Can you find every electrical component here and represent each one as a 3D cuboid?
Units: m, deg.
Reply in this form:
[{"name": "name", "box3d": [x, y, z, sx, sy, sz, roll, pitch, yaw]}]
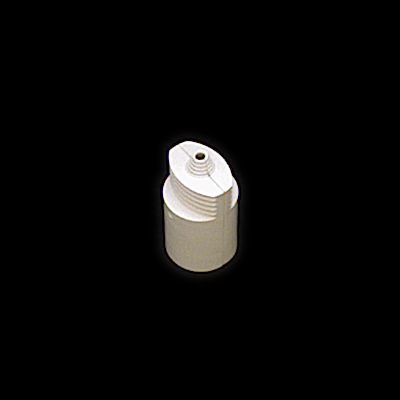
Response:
[{"name": "electrical component", "box3d": [0.000, 0.000, 0.620, 0.043, 0.043, 0.081, 0, -38, 0]}]
